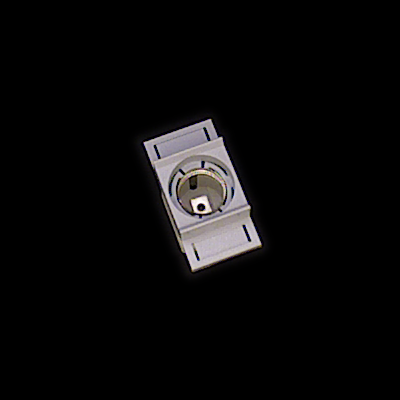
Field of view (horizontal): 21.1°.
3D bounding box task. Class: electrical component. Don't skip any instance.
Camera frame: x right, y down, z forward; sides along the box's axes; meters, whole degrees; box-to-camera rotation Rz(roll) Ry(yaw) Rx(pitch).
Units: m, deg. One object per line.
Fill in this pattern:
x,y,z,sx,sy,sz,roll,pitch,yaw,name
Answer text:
0.000,0.000,0.623,0.042,0.081,0.063,-19,-16,-6,electrical component
